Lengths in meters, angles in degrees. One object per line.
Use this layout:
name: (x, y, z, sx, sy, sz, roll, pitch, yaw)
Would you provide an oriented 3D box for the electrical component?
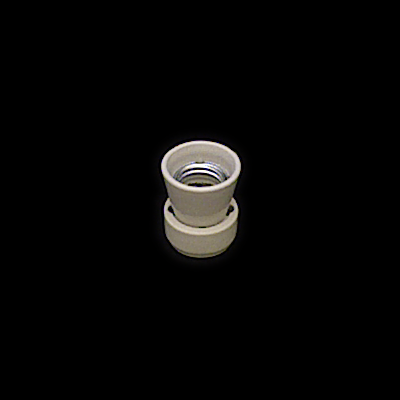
electrical component: (0.000, 0.000, 0.632, 0.045, 0.055, 0.044, 1, 41, 0)
